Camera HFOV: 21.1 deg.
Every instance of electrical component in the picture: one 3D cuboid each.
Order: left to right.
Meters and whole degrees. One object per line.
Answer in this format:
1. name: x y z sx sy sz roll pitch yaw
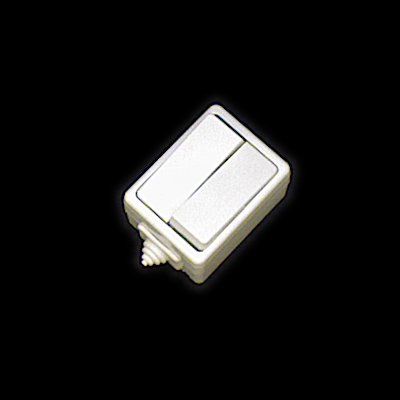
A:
1. electrical component: 0.000 0.000 0.625 0.062 0.097 0.060 42 -13 11
